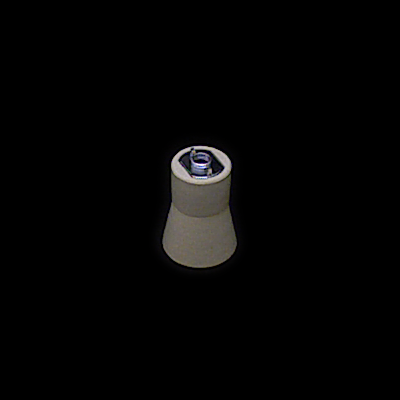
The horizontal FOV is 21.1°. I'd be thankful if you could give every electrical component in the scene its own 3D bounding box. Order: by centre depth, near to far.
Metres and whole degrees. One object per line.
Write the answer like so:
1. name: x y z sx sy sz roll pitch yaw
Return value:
1. electrical component: 0.000 0.000 0.629 0.044 0.066 0.044 1 41 -1
